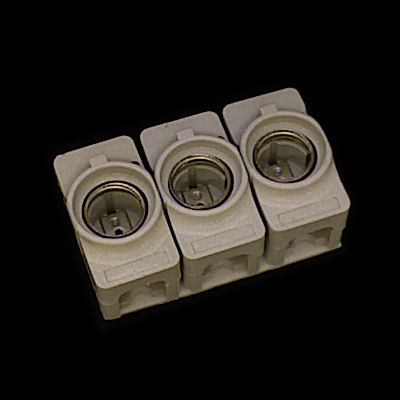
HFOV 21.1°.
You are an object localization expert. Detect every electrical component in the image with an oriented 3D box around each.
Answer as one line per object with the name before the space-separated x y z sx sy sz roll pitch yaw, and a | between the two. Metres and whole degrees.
electrical component | 0.000 0.000 0.632 0.150 0.089 0.062 -17 -27 -9
